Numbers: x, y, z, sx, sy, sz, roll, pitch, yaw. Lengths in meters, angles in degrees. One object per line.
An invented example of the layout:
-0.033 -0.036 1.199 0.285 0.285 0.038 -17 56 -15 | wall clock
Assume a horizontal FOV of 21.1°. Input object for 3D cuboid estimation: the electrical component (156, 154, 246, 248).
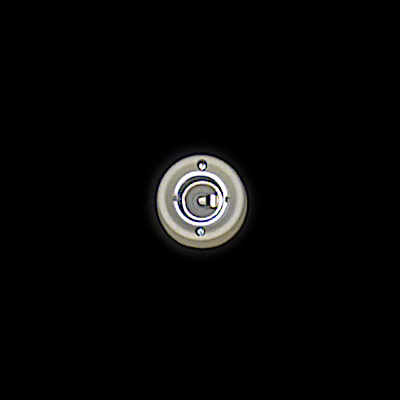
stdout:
0.000 0.000 0.633 0.055 0.055 0.047 0 -6 1 | electrical component
